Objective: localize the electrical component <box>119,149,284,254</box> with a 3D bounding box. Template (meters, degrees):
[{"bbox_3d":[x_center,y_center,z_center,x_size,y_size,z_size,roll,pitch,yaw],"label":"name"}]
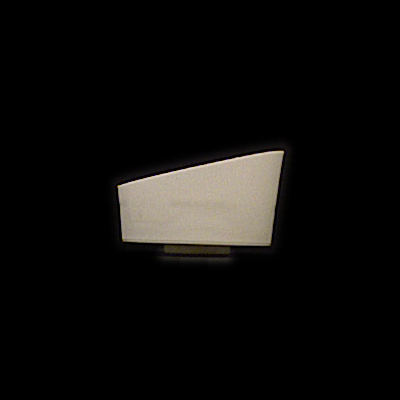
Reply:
[{"bbox_3d":[0.000,0.000,0.650,0.099,0.064,0.099,2,-1,0],"label":"electrical component"}]
